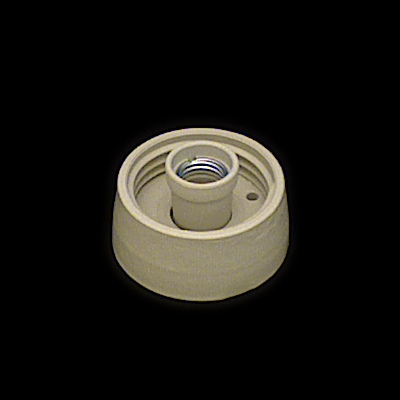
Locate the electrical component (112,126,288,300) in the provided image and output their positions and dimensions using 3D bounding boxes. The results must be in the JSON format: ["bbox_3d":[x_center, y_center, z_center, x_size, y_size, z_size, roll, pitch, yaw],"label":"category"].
[{"bbox_3d":[0.000,0.000,0.637,0.108,0.061,0.107,1,42,0],"label":"electrical component"}]
